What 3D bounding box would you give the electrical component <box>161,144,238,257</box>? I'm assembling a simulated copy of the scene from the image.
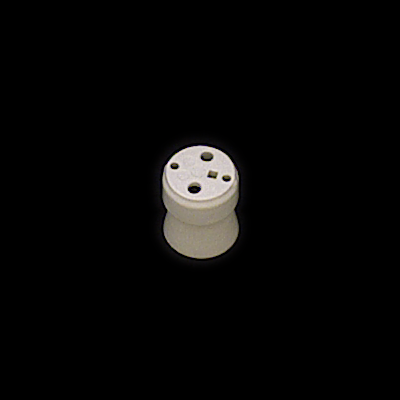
[{"bbox_3d":[0.000,0.000,0.629,0.045,0.044,0.055,0,-37,0],"label":"electrical component"}]
